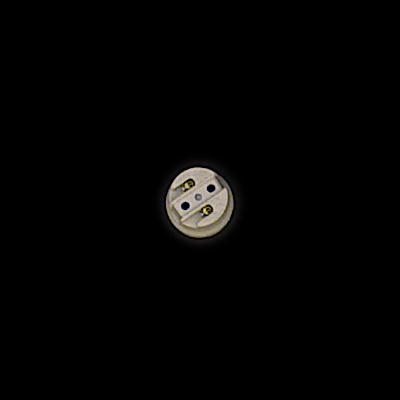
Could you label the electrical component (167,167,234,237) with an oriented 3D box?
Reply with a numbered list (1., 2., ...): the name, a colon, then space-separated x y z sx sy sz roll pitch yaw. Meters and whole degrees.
1. electrical component: 0.000 0.000 0.634 0.040 0.040 0.046 0 -7 0
